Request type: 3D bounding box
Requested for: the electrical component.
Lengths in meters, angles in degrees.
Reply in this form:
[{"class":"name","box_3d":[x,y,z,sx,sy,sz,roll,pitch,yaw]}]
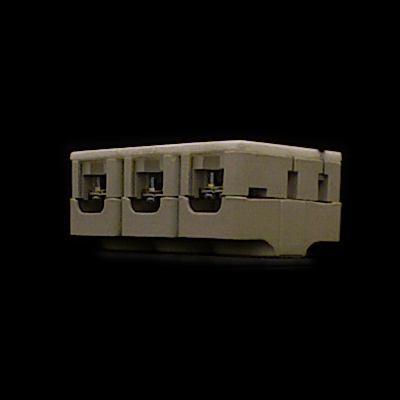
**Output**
[{"class":"electrical component","box_3d":[0.000,0.000,0.656,0.089,0.062,0.150,1,0,-43]}]
